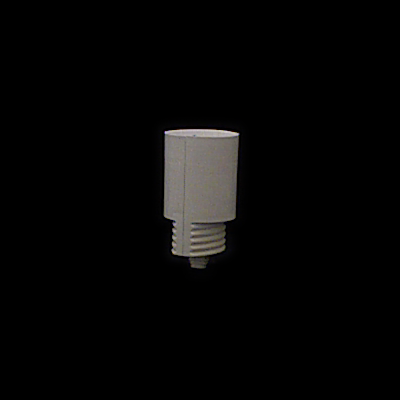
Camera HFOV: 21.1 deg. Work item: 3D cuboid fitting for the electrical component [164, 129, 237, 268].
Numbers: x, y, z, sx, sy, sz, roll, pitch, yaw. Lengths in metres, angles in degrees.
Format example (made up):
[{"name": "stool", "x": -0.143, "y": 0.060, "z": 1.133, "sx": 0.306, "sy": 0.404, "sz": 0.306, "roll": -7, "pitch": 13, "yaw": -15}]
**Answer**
[{"name": "electrical component", "x": 0.000, "y": 0.000, "z": 0.639, "sx": 0.043, "sy": 0.082, "sz": 0.042, "roll": 0, "pitch": 11, "yaw": 0}]
